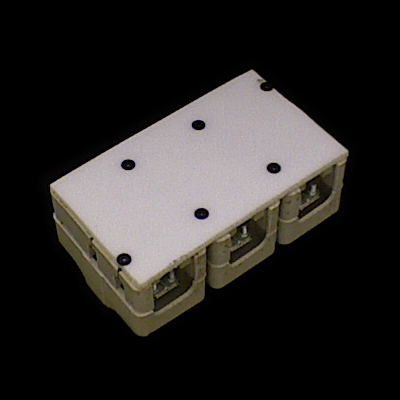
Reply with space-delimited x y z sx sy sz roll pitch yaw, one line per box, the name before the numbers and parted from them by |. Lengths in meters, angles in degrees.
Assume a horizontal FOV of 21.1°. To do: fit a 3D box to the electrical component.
electrical component | 0.000 0.000 0.631 0.150 0.089 0.062 -32 -31 -22
